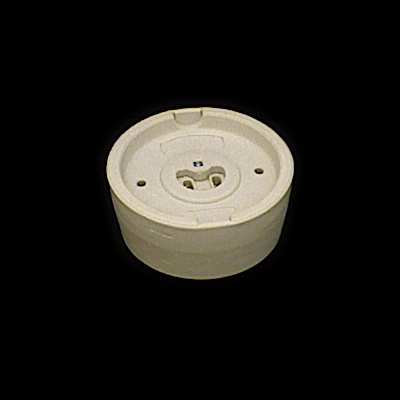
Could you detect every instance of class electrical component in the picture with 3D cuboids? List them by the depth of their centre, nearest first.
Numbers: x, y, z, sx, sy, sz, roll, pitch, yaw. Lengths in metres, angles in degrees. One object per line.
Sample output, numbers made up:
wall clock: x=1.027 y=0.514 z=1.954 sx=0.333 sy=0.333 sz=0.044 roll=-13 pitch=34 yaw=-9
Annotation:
electrical component: x=0.000 y=0.000 z=0.640 sx=0.108 sy=0.061 sz=0.106 roll=1 pitch=43 yaw=0
